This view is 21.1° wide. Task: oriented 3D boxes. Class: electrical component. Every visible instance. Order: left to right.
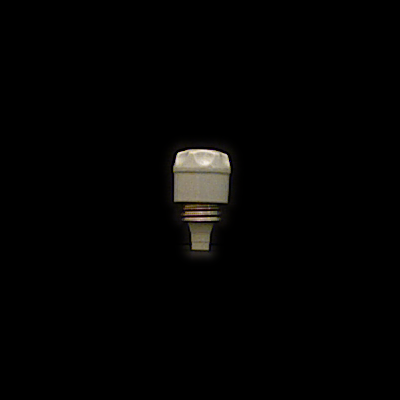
[{"bbox_3d":[0.001,0.000,0.659,0.035,0.061,0.035,1,1,1],"label":"electrical component"}]
